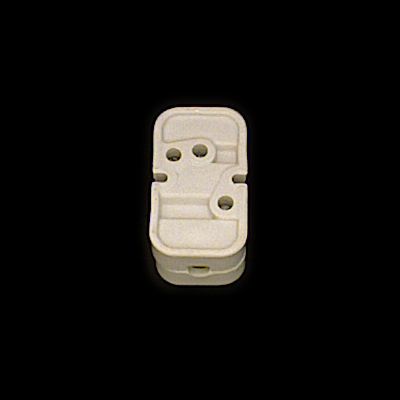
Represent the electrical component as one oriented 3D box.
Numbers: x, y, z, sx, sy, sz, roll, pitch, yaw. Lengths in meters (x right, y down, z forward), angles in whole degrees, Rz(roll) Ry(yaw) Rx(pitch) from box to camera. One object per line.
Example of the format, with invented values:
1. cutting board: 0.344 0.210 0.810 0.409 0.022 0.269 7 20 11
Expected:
1. electrical component: 0.000 0.000 0.634 0.054 0.095 0.059 1 -26 1
